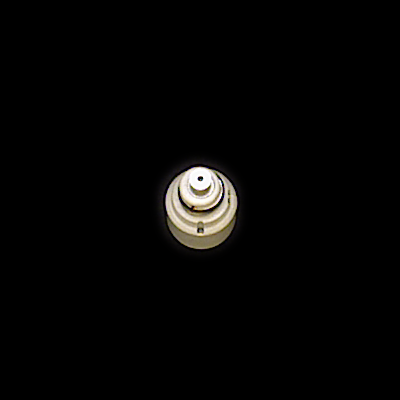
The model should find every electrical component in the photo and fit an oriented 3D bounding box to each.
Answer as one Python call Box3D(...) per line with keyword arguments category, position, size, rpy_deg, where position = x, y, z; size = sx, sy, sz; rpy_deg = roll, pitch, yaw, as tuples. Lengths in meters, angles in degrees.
Box3D(category="electrical component", position=(0.000, 0.000, 0.617), size=(0.040, 0.040, 0.078), rpy_deg=(0, -18, 1))
